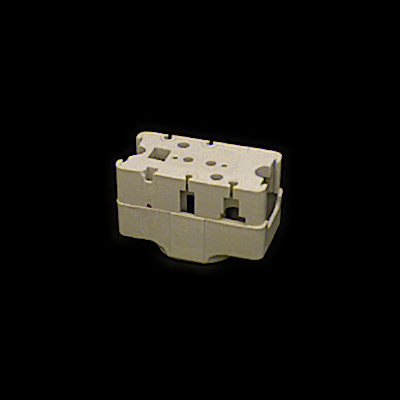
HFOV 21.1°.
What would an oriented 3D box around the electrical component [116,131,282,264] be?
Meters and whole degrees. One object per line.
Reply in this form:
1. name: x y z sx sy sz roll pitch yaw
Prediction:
1. electrical component: 0.000 0.000 0.642 0.089 0.056 0.050 9 34 14
